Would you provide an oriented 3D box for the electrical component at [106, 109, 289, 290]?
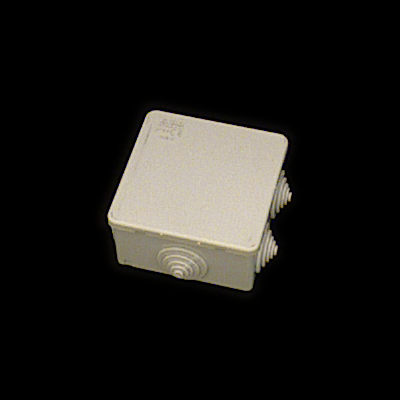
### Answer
[{"bbox_3d":[0.000,0.000,0.641,0.099,0.100,0.049,12,-36,8],"label":"electrical component"}]
